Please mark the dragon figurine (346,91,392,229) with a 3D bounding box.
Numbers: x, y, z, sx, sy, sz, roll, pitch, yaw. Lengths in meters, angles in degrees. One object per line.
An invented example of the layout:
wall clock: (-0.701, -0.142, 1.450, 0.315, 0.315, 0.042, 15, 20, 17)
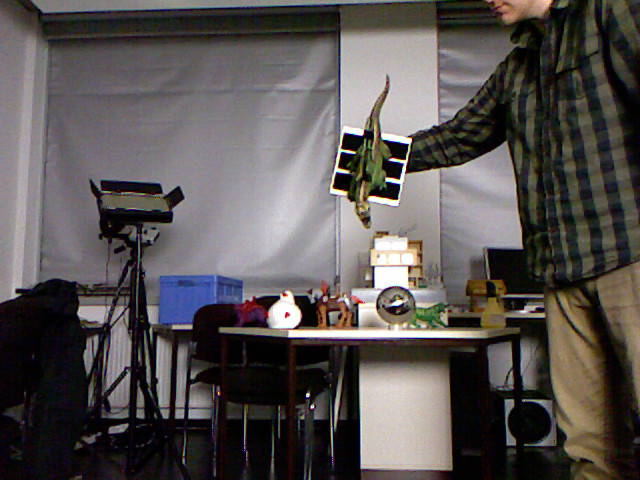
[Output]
dragon figurine: (0.141, -0.235, 1.398, 0.122, 0.411, 0.242, 6, -2, 4)
